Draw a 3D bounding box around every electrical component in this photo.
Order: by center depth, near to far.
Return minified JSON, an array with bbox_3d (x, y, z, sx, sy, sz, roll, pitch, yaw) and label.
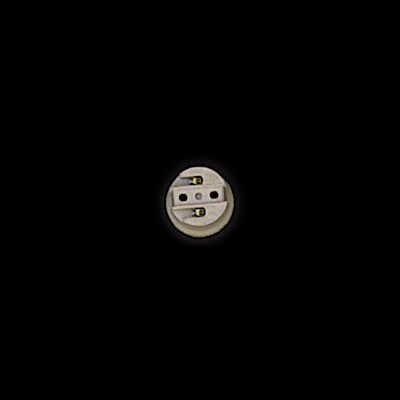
[{"bbox_3d":[0.000,0.000,0.634,0.040,0.040,0.046,0,-7,0],"label":"electrical component"}]
